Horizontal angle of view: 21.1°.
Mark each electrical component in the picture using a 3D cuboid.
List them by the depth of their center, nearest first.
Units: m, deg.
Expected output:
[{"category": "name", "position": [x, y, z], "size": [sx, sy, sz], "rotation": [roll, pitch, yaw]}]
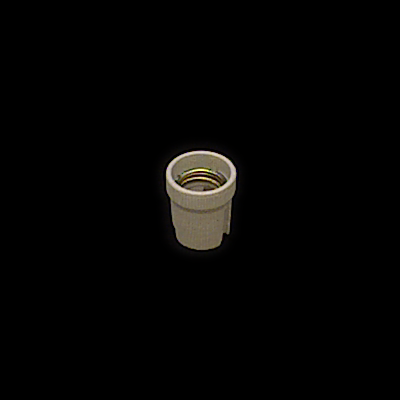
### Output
[{"category": "electrical component", "position": [0.000, 0.000, 0.634], "size": [0.040, 0.047, 0.039], "rotation": [1, 42, 0]}]
